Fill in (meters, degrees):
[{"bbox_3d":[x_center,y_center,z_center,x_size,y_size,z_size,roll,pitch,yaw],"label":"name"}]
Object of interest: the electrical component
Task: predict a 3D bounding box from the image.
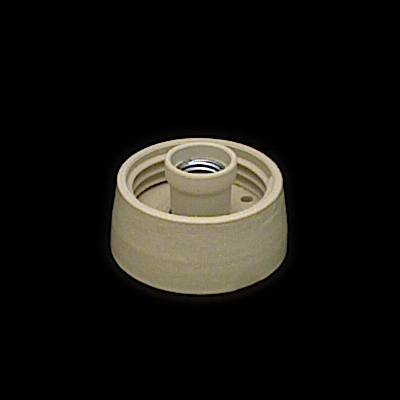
[{"bbox_3d":[0.000,0.000,0.641,0.108,0.061,0.106,1,32,0],"label":"electrical component"}]
